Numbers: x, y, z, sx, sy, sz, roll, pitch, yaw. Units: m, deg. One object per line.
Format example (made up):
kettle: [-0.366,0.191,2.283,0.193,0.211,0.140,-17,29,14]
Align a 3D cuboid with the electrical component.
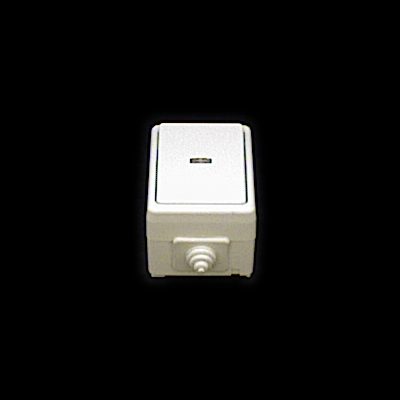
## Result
electrical component: [0.000,0.000,0.628,0.062,0.061,0.095,0,42,0]
